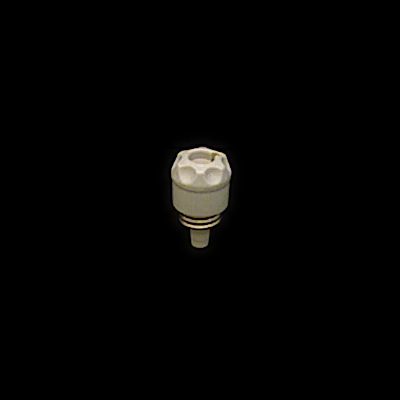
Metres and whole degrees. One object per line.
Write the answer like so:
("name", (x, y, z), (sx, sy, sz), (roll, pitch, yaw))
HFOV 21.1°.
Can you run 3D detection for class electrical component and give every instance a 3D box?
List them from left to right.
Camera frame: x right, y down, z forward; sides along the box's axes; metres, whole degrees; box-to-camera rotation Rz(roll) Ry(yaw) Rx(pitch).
("electrical component", (0.000, 0.000, 0.641), (0.035, 0.062, 0.034), (1, 33, 0))
